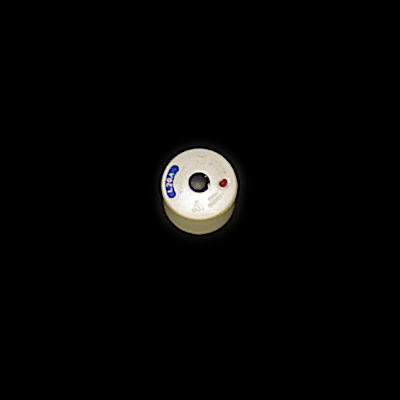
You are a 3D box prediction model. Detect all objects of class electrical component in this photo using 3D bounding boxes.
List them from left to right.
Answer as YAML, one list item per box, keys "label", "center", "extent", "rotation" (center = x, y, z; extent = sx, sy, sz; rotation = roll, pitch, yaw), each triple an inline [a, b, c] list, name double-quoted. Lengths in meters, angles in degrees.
- label: "electrical component"
  center: [0.000, 0.000, 0.616]
  extent: [0.040, 0.040, 0.078]
  rotation: [0, -17, -1]
